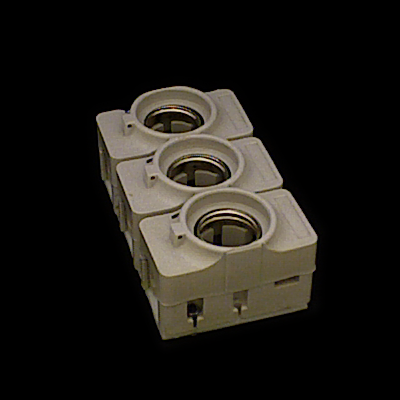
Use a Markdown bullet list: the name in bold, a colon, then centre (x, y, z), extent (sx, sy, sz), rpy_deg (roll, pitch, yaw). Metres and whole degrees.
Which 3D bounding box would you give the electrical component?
- **electrical component**: centre (0.000, 0.000, 0.635), extent (0.089, 0.063, 0.147), rpy_deg (-12, 43, -13)
